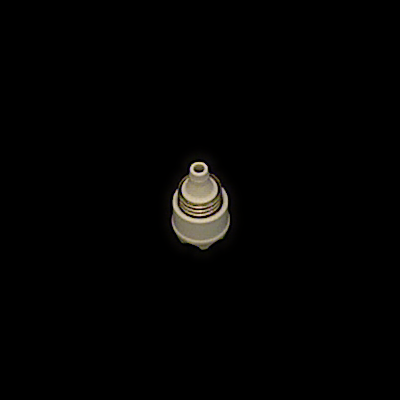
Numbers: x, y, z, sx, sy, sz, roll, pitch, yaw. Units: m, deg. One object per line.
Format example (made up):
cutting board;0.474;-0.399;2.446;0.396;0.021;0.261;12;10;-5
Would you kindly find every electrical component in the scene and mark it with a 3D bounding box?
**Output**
electrical component;0.000;0.000;0.638;0.035;0.035;0.062;0;-39;1
